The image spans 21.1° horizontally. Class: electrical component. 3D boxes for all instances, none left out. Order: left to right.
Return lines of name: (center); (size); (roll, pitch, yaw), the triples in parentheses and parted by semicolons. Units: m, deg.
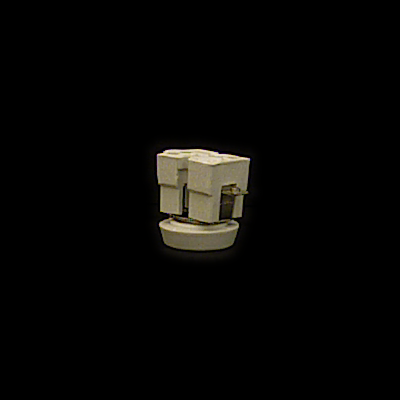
electrical component: (0.000, 0.000, 0.651); (0.065, 0.056, 0.049); (12, 15, 40)
